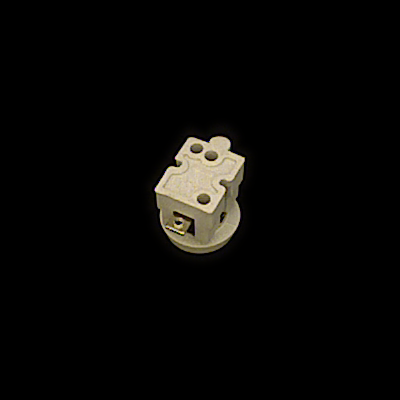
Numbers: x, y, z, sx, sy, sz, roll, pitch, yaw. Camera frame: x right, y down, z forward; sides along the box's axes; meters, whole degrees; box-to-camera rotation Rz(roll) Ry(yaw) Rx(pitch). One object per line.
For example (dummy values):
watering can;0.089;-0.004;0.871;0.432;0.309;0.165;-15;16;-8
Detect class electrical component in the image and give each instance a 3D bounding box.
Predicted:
electrical component;0.000;0.000;0.639;0.048;0.066;0.056;23;-33;15
